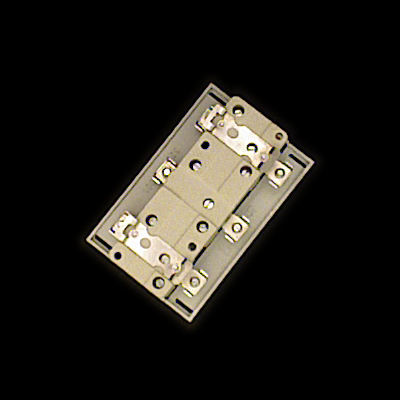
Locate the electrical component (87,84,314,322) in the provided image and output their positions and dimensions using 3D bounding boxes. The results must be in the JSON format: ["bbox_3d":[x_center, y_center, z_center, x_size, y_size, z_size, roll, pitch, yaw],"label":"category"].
[{"bbox_3d":[0.000,0.000,0.634,0.078,0.122,0.063,38,-5,5],"label":"electrical component"}]
